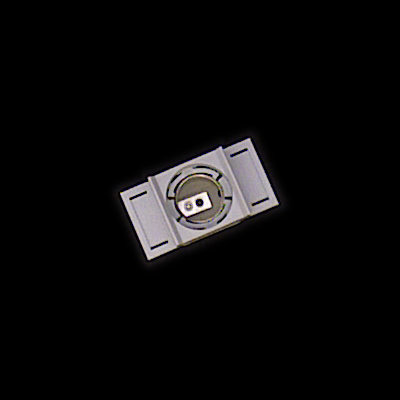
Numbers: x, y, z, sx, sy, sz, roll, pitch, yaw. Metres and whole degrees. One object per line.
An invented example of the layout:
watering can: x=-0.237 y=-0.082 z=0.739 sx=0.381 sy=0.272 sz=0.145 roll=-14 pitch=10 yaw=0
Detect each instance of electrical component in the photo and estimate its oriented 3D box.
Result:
electrical component: x=0.000 y=0.000 z=0.624 sx=0.081 sy=0.042 sz=0.063 roll=-23 pitch=-5 yaw=-3
